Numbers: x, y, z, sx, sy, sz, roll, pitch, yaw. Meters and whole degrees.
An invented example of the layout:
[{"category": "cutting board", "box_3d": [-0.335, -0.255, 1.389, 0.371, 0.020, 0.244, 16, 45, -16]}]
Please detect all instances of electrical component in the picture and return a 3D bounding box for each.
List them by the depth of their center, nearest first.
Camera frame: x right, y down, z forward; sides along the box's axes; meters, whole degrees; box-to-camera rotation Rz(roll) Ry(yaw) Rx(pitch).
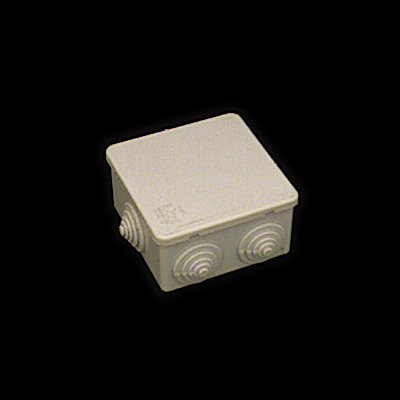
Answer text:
[{"category": "electrical component", "box_3d": [0.000, 0.000, 0.641, 0.100, 0.049, 0.098, -16, 46, -18]}]
